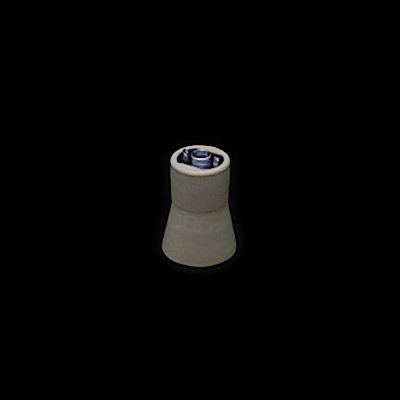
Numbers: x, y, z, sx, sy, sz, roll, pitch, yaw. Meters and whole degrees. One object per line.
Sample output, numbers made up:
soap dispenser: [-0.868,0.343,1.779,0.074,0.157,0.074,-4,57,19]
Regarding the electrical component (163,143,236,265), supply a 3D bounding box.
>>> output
electrical component: [0.000,0.000,0.632,0.044,0.066,0.044,1,33,0]
